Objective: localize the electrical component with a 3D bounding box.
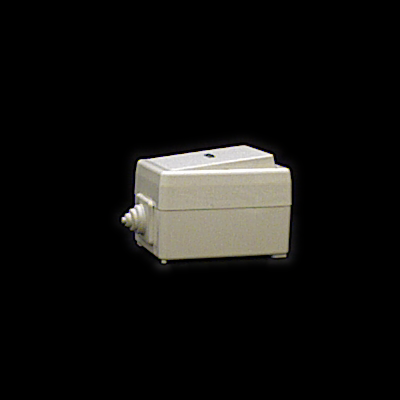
[{"bbox_3d":[0.000,0.000,0.643,0.096,0.061,0.061,-2,11,-18],"label":"electrical component"}]
